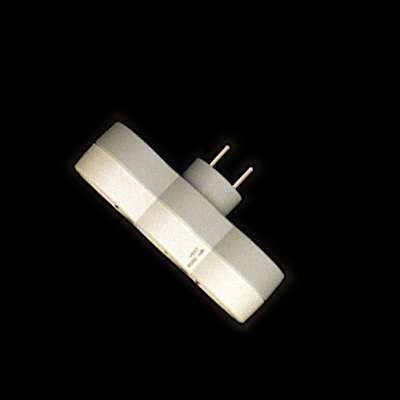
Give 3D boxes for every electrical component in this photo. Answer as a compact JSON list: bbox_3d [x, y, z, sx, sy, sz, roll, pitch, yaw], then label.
[{"bbox_3d":[0.000,0.000,0.639,0.138,0.074,0.052,43,-5,4],"label":"electrical component"}]
